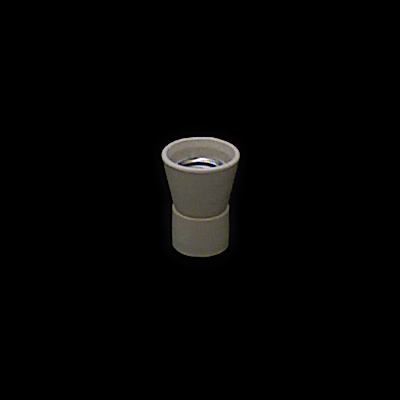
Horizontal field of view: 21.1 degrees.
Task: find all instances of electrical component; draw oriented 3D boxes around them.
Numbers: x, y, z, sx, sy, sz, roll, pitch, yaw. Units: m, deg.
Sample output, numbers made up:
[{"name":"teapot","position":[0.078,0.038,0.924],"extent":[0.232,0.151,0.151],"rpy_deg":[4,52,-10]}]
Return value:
[{"name":"electrical component","position":[0.000,0.000,0.635],"extent":[0.044,0.066,0.044],"rpy_deg":[0,30,0]}]
